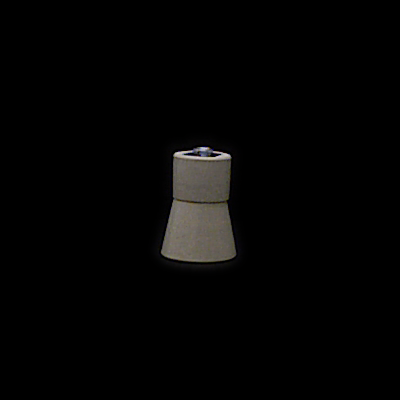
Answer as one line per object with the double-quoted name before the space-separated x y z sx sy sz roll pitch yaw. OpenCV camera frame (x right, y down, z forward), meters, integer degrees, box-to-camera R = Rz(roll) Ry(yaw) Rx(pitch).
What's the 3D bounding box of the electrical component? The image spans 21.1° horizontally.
"electrical component" 0.000 0.000 0.642 0.044 0.066 0.044 2 11 0
